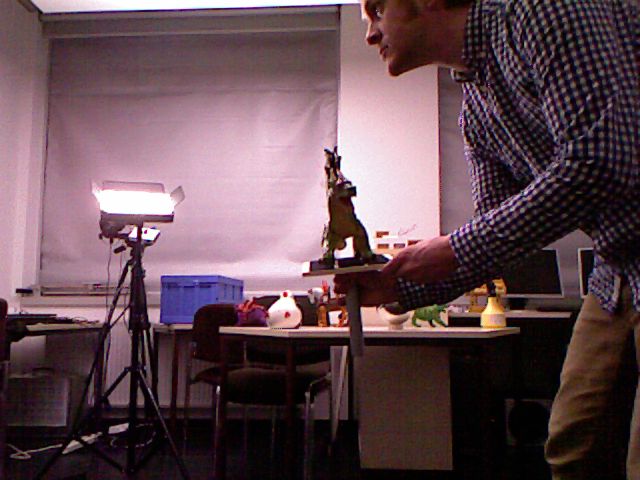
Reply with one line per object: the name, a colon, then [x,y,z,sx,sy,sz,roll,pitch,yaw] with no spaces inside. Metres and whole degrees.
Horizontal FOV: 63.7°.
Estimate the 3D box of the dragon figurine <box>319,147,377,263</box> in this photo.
dragon figurine: [0.047,-0.082,1.124,0.122,0.242,0.413,-6,8,-2]
